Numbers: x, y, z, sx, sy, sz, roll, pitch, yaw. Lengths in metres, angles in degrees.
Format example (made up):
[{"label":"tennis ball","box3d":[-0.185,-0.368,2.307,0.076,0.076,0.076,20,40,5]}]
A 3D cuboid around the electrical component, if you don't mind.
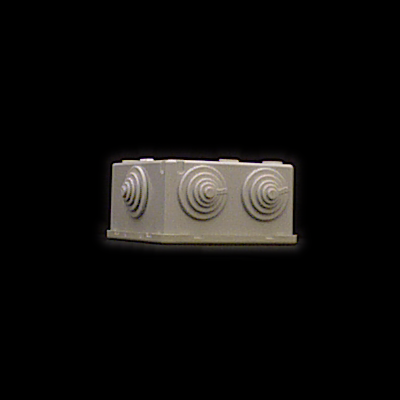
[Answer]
[{"label":"electrical component","box3d":[0.000,0.000,0.648,0.100,0.048,0.099,1,0,-28]}]
